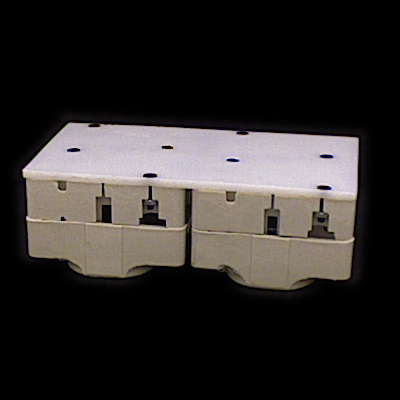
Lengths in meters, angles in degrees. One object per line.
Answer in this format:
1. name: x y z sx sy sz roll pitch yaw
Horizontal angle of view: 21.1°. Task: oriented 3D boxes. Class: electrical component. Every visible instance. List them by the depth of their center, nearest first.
1. electrical component: 0.000 0.000 0.639 0.186 0.061 0.104 4 21 7
